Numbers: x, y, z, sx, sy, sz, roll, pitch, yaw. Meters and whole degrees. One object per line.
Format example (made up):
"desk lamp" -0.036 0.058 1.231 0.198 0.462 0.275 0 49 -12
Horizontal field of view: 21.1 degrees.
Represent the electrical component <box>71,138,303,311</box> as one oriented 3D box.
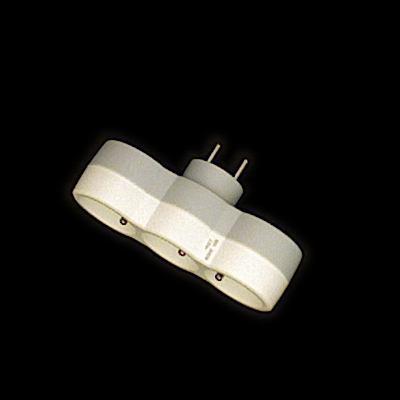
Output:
"electrical component" 0.000 0.000 0.638 0.138 0.074 0.052 30 -15 8
